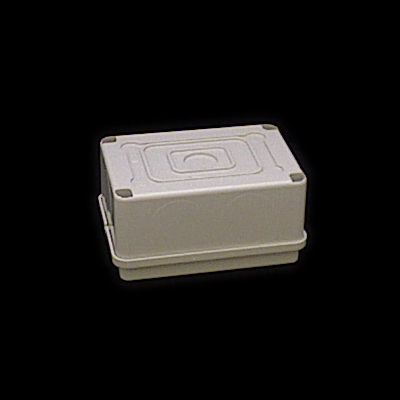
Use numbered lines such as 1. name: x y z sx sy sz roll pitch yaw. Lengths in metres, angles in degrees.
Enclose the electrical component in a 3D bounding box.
1. electrical component: 0.000 0.000 0.635 0.113 0.058 0.077 -6 32 -10
